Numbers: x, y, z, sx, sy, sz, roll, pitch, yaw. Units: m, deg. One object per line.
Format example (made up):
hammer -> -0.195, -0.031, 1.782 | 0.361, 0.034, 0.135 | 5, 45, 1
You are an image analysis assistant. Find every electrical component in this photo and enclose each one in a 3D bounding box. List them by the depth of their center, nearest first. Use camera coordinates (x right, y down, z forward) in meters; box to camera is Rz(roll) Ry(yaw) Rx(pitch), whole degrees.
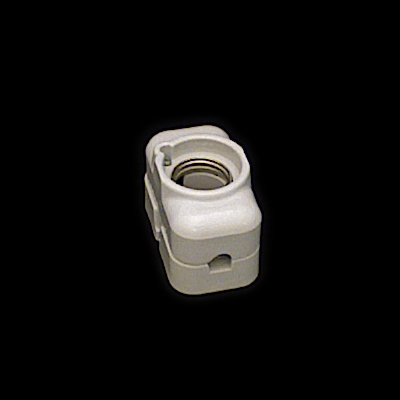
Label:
electrical component -> 0.000, 0.000, 0.637 | 0.054, 0.060, 0.094 | -10, 43, -11
